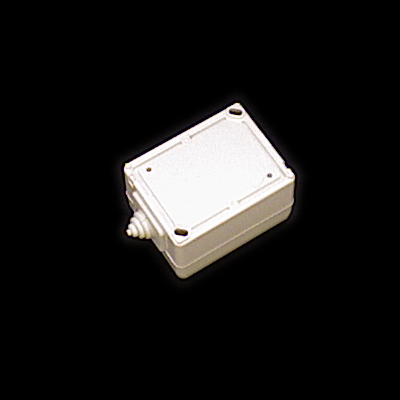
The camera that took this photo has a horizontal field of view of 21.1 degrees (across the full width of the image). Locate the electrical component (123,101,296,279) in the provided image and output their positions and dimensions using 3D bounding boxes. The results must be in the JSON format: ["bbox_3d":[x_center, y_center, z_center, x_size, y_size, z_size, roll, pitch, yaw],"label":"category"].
[{"bbox_3d":[0.000,0.000,0.628,0.096,0.061,0.061,-30,-23,-14],"label":"electrical component"}]
